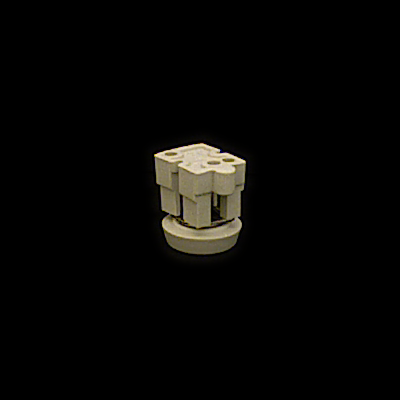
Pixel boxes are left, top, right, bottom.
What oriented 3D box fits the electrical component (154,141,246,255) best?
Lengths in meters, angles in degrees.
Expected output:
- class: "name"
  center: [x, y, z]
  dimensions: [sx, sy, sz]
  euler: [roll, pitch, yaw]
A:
- class: "electrical component"
  center: [0.000, 0.000, 0.647]
  dimensions: [0.048, 0.056, 0.065]
  euler: [-16, 27, -33]
